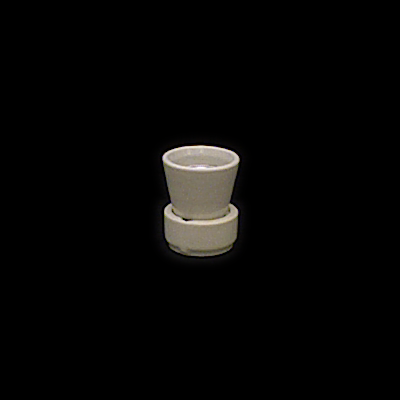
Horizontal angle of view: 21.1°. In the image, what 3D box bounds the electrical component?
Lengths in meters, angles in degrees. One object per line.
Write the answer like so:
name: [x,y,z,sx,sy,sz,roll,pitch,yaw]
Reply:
electrical component: [0.000,0.000,0.638,0.045,0.056,0.044,1,21,0]
